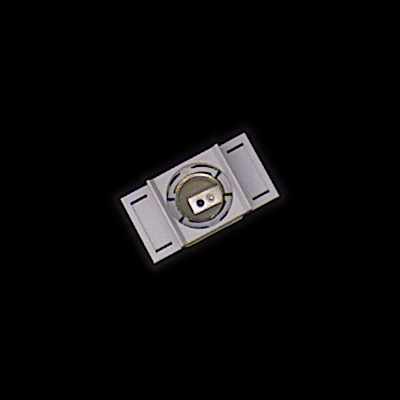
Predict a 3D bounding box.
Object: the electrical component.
[{"bbox_3d":[0.000,0.000,0.625,0.081,0.042,0.063,-28,-6,-3],"label":"electrical component"}]
